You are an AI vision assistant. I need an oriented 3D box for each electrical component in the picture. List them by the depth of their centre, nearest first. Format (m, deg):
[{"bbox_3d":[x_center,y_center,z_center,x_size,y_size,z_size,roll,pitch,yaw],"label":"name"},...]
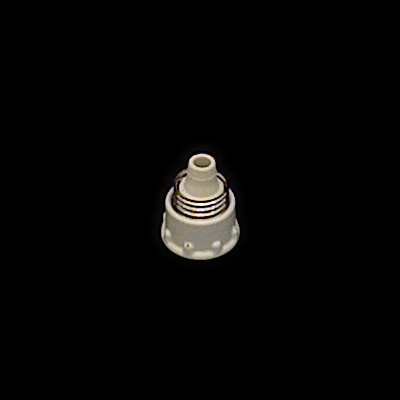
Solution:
[{"bbox_3d":[0.000,0.000,0.639,0.048,0.062,0.047,1,42,-1],"label":"electrical component"}]
